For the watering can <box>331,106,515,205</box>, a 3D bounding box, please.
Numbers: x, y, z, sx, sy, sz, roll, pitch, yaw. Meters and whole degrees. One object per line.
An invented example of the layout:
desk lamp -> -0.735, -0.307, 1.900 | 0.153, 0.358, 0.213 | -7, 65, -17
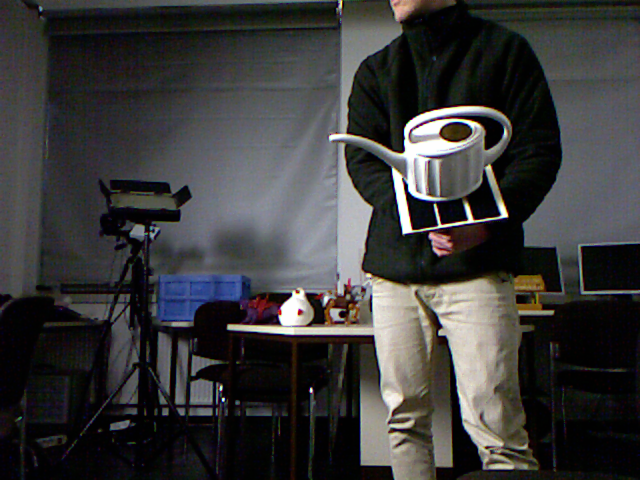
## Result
watering can -> 0.207, -0.167, 1.036 | 0.348, 0.107, 0.220 | -7, -40, 7
